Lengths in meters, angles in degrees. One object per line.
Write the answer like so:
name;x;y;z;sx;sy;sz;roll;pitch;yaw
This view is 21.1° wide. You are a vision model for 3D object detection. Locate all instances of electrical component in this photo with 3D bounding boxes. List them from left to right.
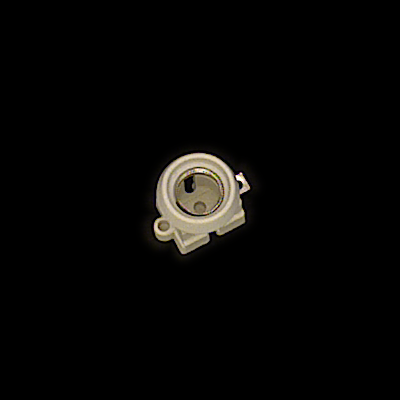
electrical component;0.000;0.000;0.638;0.067;0.048;0.055;-28;-12;-8
